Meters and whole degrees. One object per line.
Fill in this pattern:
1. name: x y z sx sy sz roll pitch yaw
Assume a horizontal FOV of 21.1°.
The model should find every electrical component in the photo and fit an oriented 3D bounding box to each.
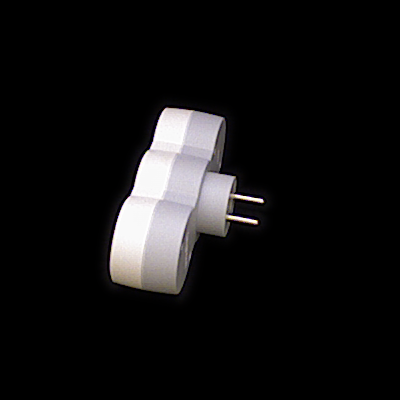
1. electrical component: 0.000 0.000 0.636 0.073 0.052 0.137 10 42 7
